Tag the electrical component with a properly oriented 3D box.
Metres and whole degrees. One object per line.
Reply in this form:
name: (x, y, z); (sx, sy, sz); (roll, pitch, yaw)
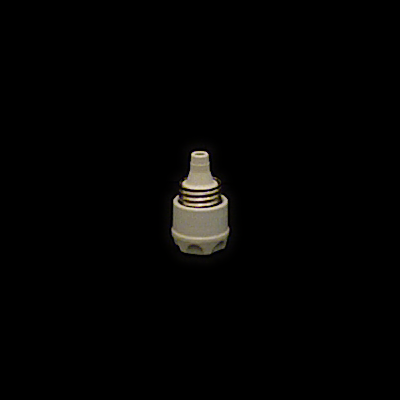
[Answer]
electrical component: (0.000, 0.000, 0.649); (0.035, 0.062, 0.035); (0, 21, 0)
